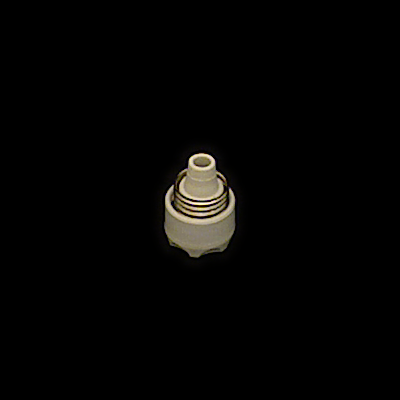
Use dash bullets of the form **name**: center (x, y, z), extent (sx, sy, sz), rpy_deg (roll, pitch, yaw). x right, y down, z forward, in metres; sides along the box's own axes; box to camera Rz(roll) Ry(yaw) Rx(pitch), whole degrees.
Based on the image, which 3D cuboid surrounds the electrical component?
- **electrical component**: center (0.000, 0.000, 0.638), extent (0.043, 0.062, 0.043), rpy_deg (1, 42, -1)
